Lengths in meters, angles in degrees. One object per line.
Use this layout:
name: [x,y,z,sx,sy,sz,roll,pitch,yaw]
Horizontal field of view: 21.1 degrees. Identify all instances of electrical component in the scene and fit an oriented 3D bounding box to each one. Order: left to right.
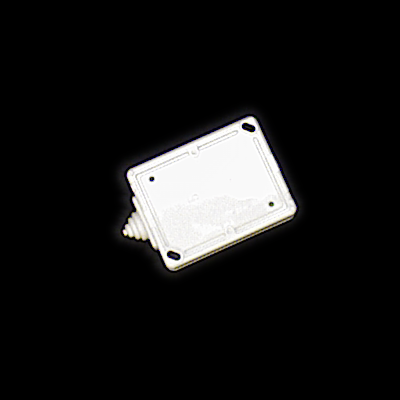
electrical component: [0.000,0.000,0.626,0.096,0.062,0.061,-24,-6,-3]
